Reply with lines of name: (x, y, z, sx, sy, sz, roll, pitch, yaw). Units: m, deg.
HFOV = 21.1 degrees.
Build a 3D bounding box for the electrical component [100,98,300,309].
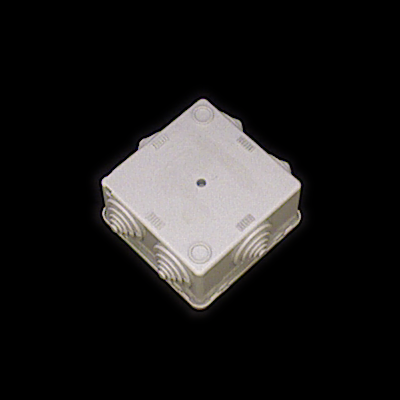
electrical component: (0.000, 0.000, 0.631, 0.100, 0.099, 0.048, -41, -20, -19)
